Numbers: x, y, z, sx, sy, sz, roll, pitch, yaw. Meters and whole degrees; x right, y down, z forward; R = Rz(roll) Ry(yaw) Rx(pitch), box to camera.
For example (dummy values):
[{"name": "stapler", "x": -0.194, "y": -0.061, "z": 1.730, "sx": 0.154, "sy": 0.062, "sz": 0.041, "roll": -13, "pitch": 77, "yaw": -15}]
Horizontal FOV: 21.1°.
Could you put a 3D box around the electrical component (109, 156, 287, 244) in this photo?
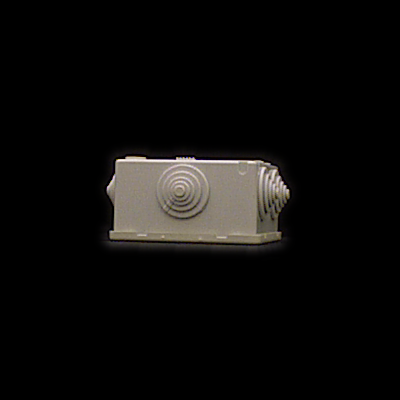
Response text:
[{"name": "electrical component", "x": 0.000, "y": 0.000, "z": 0.648, "sx": 0.099, "sy": 0.048, "sz": 0.100, "roll": 1, "pitch": 0, "yaw": 13}]
